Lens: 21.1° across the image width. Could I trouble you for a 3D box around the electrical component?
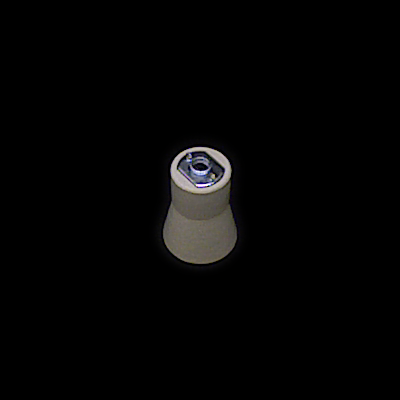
[{"bbox_3d":[0.000,0.000,0.627,0.044,0.044,0.065,0,-39,-1],"label":"electrical component"}]
